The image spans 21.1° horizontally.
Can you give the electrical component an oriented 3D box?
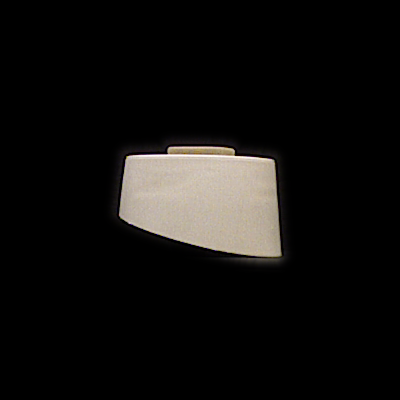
[{"bbox_3d":[0.000,0.000,0.649,0.099,0.064,0.099,2,0,0],"label":"electrical component"}]
